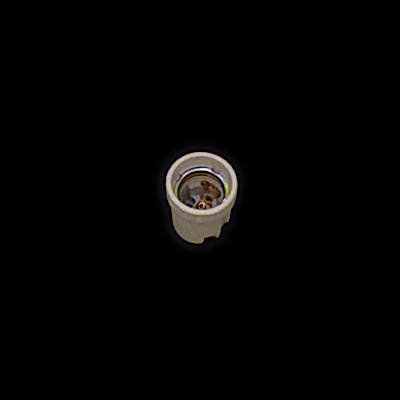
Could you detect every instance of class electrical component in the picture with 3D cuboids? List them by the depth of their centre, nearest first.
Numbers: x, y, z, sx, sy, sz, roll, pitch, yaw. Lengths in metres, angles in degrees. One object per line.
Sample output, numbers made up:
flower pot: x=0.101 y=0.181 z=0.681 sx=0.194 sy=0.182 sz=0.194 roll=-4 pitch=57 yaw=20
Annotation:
electrical component: x=0.000 y=0.000 z=0.627 sx=0.040 sy=0.040 sz=0.046 roll=0 pitch=-27 yaw=0
